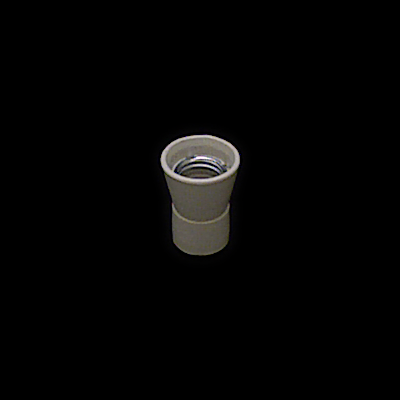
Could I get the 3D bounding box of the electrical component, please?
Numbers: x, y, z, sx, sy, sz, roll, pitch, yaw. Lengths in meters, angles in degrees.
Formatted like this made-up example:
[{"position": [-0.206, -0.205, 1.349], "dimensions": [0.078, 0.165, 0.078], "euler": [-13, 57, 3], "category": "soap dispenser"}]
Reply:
[{"position": [0.000, 0.000, 0.630], "dimensions": [0.044, 0.066, 0.044], "euler": [0, 41, 0], "category": "electrical component"}]
